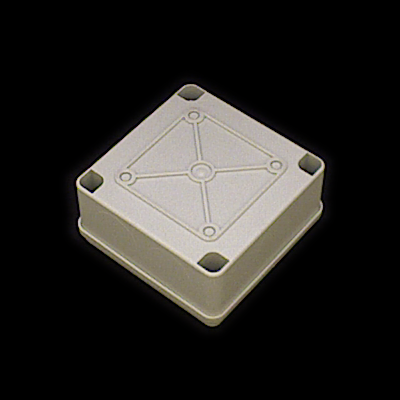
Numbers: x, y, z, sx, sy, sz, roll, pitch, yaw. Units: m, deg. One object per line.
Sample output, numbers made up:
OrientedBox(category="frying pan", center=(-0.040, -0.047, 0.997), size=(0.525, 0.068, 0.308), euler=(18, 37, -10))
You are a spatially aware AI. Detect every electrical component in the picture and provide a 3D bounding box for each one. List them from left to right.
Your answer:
OrientedBox(category="electrical component", center=(0.000, 0.000, 0.630), size=(0.108, 0.056, 0.109), euler=(33, 59, 23))
